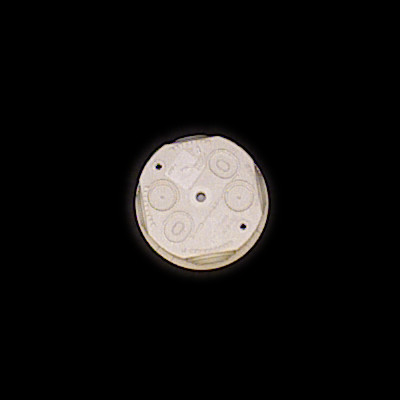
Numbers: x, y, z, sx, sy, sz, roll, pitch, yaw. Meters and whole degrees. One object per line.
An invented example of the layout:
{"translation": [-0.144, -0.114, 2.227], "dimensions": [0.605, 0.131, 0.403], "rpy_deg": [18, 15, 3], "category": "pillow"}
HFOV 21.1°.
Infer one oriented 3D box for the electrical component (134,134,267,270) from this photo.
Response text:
{"translation": [0.000, 0.000, 0.633], "dimensions": [0.080, 0.080, 0.050], "rpy_deg": [0, -7, 1], "category": "electrical component"}
